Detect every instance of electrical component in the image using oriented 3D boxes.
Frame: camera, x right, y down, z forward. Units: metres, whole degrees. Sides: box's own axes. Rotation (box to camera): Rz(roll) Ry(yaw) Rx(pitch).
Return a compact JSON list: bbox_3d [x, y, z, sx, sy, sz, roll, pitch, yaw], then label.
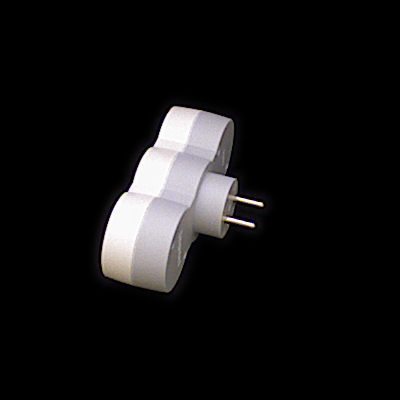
[{"bbox_3d":[0.000,0.000,0.636,0.073,0.052,0.137,14,43,11],"label":"electrical component"}]
